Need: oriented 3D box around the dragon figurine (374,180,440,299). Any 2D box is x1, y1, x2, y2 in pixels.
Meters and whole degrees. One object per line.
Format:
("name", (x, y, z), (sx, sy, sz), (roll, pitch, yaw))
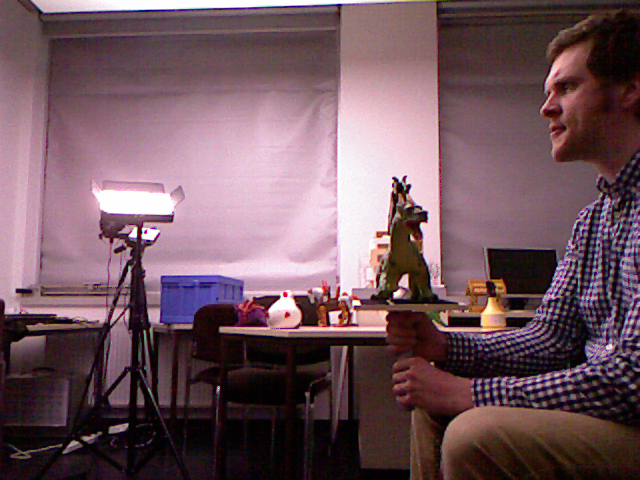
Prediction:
("dragon figurine", (0.154, -0.002, 1.037), (0.122, 0.244, 0.409), (-5, -3, -3))
